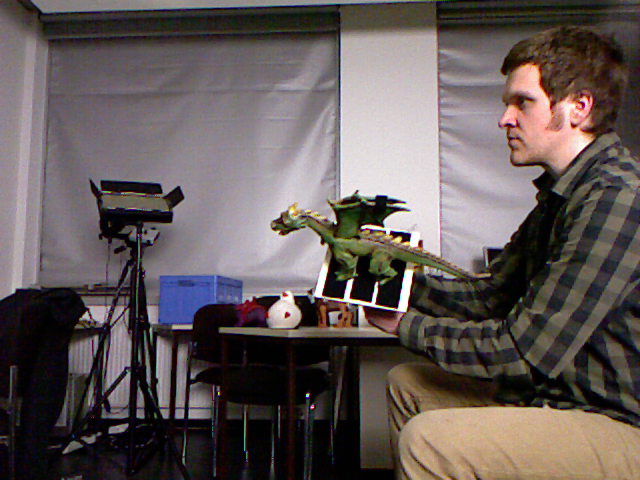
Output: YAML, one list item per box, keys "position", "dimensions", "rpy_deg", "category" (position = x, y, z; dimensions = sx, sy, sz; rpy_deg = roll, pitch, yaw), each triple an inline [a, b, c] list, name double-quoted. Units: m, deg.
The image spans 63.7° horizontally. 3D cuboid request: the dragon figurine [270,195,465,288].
- position: [0.105, -0.007, 1.055]
  dimensions: [0.412, 0.125, 0.238]
  rpy_deg: [4, -27, 7]
  category: "dragon figurine"
